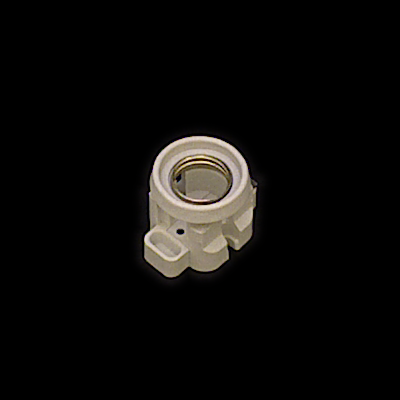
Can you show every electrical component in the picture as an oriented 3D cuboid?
[{"bbox_3d":[0.000,0.000,0.631,0.057,0.057,0.078,37,60,24],"label":"electrical component"}]
